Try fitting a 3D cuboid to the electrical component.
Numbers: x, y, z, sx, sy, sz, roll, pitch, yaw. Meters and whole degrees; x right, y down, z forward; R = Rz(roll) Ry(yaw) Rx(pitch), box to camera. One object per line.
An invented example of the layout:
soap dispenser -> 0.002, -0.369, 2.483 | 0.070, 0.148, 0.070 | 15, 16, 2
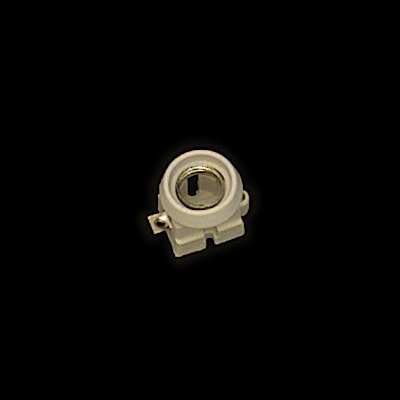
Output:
electrical component -> 0.000, 0.000, 0.636 | 0.067, 0.048, 0.055 | -20, -27, -10
